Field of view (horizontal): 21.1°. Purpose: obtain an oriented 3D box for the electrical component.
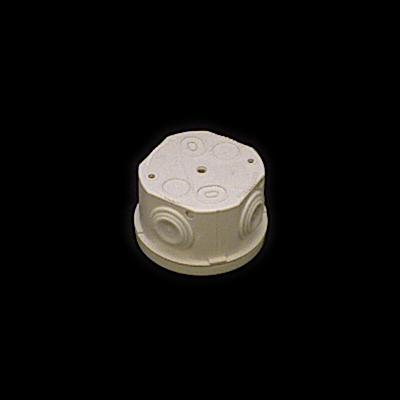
[{"bbox_3d":[0.000,0.000,0.635,0.080,0.051,0.079,1,42,-1],"label":"electrical component"}]
